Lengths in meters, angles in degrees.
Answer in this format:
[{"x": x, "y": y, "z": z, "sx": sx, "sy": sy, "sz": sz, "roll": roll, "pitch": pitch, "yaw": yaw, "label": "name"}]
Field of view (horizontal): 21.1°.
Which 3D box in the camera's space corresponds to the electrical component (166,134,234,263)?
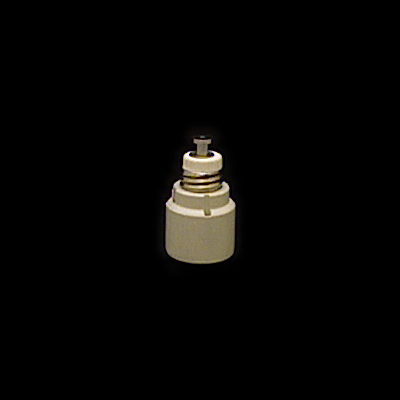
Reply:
[{"x": 0.000, "y": 0.000, "z": 0.637, "sx": 0.040, "sy": 0.079, "sz": 0.039, "roll": 2, "pitch": 22, "yaw": 0, "label": "electrical component"}]
